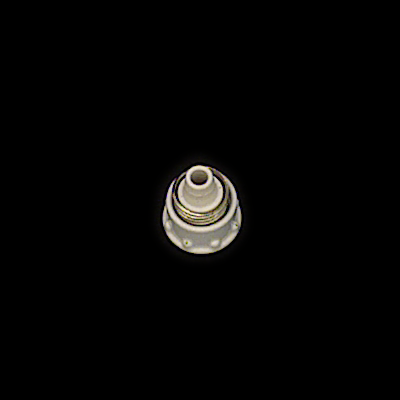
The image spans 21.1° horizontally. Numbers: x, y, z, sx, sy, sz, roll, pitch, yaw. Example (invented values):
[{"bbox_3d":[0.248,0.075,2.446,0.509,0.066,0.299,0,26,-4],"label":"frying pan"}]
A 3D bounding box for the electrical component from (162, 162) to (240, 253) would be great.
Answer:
[{"bbox_3d":[0.000,0.000,0.632,0.048,0.048,0.062,0,-26,2],"label":"electrical component"}]
